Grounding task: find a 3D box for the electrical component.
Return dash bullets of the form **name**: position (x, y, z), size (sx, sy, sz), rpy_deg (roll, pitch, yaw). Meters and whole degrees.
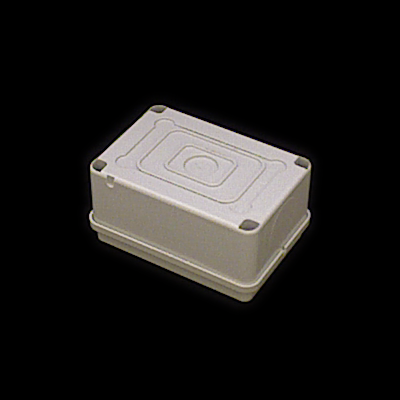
- **electrical component**: position (0.000, 0.000, 0.632), size (0.112, 0.057, 0.078), rpy_deg (23, 46, 22)
